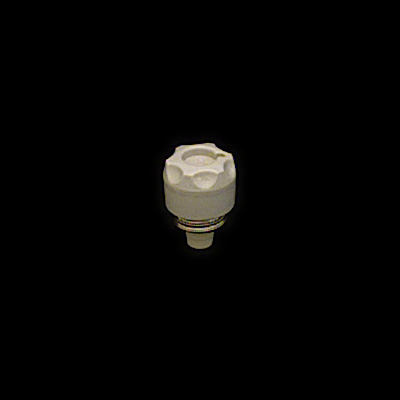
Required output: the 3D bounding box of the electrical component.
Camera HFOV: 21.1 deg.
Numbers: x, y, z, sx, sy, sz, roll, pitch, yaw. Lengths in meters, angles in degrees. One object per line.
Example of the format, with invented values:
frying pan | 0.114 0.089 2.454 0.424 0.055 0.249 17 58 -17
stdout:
electrical component | 0.000 0.000 0.641 0.043 0.063 0.043 0 33 0
